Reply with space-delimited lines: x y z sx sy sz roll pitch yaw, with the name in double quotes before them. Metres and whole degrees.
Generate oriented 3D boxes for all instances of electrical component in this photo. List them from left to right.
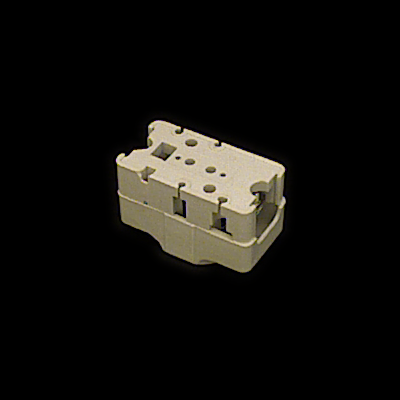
"electrical component" 0.000 0.000 0.639 0.089 0.056 0.050 21 47 22
